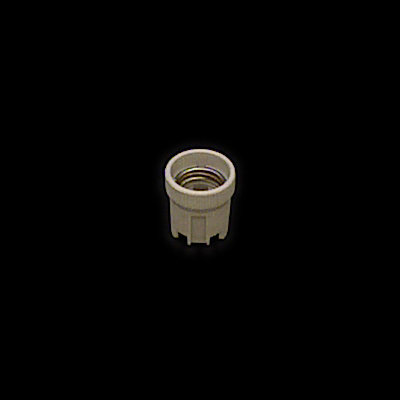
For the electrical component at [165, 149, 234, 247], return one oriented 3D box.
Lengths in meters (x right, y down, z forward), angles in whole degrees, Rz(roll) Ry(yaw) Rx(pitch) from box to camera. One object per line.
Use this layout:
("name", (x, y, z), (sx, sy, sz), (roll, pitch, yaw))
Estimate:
("electrical component", (0.000, 0.000, 0.631), (0.040, 0.047, 0.039), (1, 42, 0))
